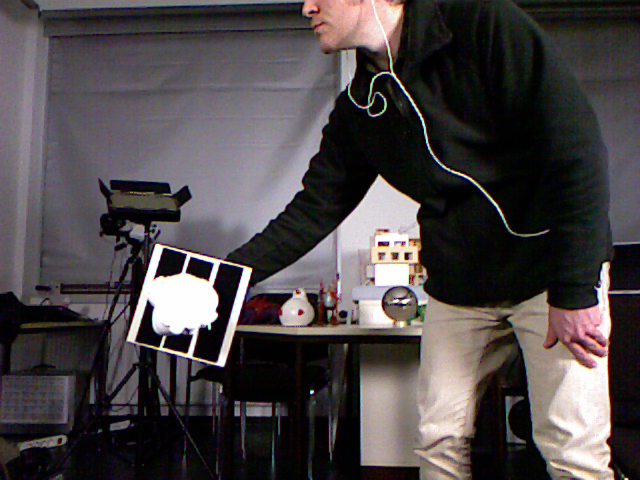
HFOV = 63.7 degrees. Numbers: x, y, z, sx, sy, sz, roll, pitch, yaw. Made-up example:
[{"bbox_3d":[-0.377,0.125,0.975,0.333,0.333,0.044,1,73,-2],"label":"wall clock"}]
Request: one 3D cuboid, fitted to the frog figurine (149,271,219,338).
[{"bbox_3d":[-0.264,0.118,0.972,0.138,0.123,0.159,39,-4,6],"label":"frog figurine"}]
